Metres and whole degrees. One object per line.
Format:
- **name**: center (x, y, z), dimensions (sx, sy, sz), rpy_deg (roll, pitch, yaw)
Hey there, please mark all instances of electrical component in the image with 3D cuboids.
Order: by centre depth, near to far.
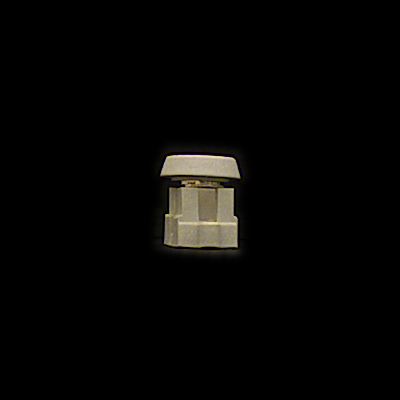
- **electrical component**: center (0.000, 0.000, 0.657), dimensions (0.049, 0.055, 0.066), rpy_deg (3, 1, -15)
